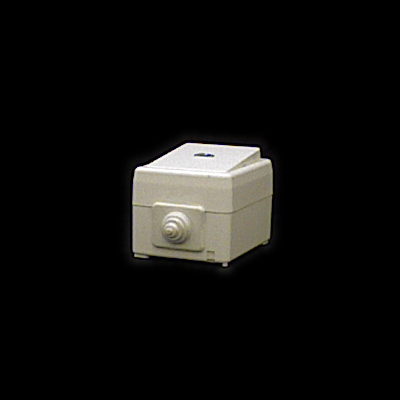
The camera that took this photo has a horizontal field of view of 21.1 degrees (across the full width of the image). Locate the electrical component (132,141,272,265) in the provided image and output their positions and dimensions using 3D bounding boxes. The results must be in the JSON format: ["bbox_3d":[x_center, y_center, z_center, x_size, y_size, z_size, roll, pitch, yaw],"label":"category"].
[{"bbox_3d":[0.000,0.000,0.642,0.061,0.061,0.096,5,11,21],"label":"electrical component"}]
